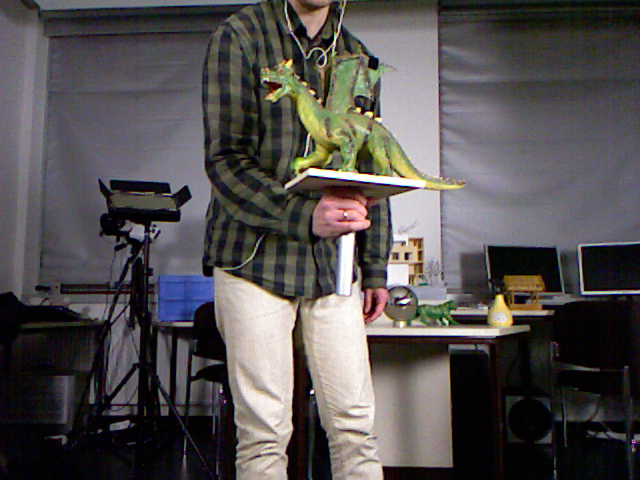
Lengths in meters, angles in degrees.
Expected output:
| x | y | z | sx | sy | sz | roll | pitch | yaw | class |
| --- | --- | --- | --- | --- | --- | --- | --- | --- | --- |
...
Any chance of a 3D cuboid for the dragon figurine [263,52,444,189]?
| x | y | z | sx | sy | sz | roll | pitch | yaw | class |
| --- | --- | --- | --- | --- | --- | --- | --- | --- | --- |
| 0.077 | -0.232 | 0.963 | 0.411 | 0.243 | 0.122 | 4 | 0 | -30 | dragon figurine |
